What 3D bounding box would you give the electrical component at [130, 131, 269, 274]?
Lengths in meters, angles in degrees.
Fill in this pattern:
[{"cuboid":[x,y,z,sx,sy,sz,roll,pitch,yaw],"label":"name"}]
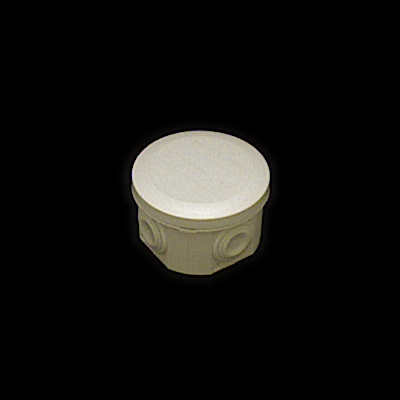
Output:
[{"cuboid":[0.000,0.000,0.632,0.080,0.051,0.080,0,42,0],"label":"electrical component"}]
